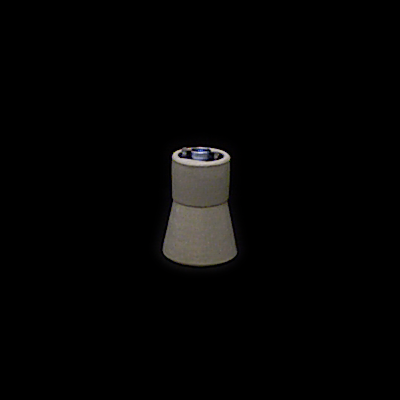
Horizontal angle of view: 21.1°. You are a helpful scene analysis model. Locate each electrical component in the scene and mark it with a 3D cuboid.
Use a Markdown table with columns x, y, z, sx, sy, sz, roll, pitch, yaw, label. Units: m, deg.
| x | y | z | sx | sy | sz | roll | pitch | yaw | label |
| --- | --- | --- | --- | --- | --- | --- | --- | --- | --- |
| 0.000 | 0.000 | 0.639 | 0.044 | 0.066 | 0.044 | 1 | 20 | 0 | electrical component |
